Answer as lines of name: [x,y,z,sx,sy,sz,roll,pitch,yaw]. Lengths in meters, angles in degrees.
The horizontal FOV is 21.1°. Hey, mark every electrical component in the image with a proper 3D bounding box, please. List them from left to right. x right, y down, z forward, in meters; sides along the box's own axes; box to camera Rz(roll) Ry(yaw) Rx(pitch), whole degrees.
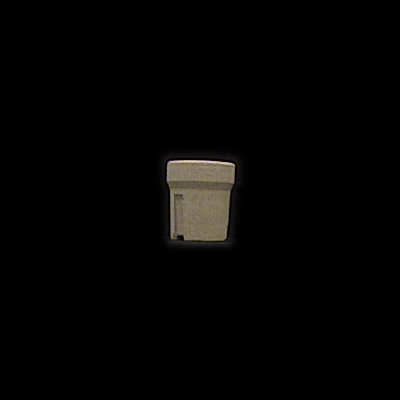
electrical component: [0.000,0.000,0.650,0.040,0.046,0.040,1,1,0]
